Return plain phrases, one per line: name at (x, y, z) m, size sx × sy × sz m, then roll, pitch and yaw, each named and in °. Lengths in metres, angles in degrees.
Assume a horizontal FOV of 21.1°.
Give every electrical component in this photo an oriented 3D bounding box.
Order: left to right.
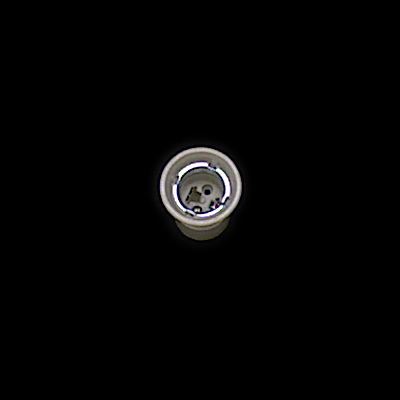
electrical component at (0.000, 0.000, 0.623) m, size 0.044 × 0.044 × 0.065 m, roll 0°, pitch -16°, yaw 1°
